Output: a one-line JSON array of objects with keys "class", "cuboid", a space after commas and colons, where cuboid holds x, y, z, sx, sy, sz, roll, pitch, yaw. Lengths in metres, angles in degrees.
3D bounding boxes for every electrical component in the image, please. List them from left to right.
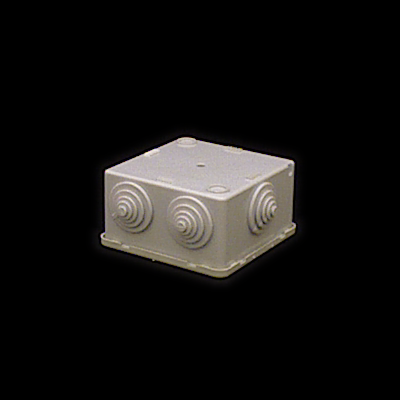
[{"class": "electrical component", "cuboid": [0.000, 0.000, 0.640, 0.099, 0.049, 0.099, 14, 25, 30]}]
